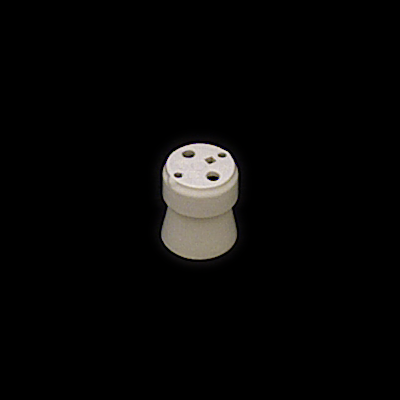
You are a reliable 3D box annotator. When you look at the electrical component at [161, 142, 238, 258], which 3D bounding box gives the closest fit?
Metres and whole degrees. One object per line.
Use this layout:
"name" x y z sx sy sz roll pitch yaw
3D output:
"electrical component" 0.000 0.000 0.631 0.045 0.055 0.044 0 43 0
